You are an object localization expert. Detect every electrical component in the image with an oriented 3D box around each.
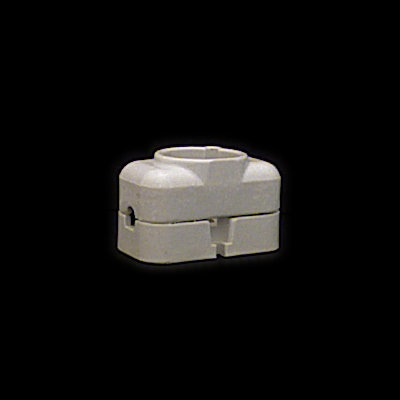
[{"bbox_3d":[0.000,0.000,0.652,0.096,0.060,0.053,-5,14,-30],"label":"electrical component"}]
